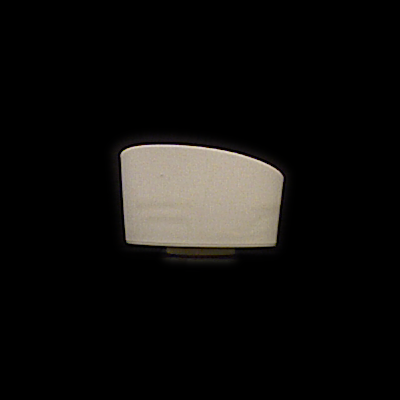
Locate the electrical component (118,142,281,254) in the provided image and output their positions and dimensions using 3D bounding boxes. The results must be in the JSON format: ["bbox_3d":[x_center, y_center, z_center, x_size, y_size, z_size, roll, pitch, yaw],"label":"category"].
[{"bbox_3d":[0.000,0.000,0.649,0.099,0.064,0.099,1,1,0],"label":"electrical component"}]
